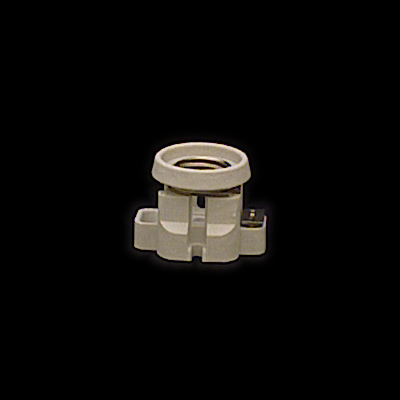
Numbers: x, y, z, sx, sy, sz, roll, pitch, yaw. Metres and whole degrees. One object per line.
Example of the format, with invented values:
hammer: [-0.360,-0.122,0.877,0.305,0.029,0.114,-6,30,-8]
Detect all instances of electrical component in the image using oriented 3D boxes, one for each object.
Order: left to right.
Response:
electrical component: [0.000,0.000,0.640,0.078,0.057,0.057,3,21,4]
